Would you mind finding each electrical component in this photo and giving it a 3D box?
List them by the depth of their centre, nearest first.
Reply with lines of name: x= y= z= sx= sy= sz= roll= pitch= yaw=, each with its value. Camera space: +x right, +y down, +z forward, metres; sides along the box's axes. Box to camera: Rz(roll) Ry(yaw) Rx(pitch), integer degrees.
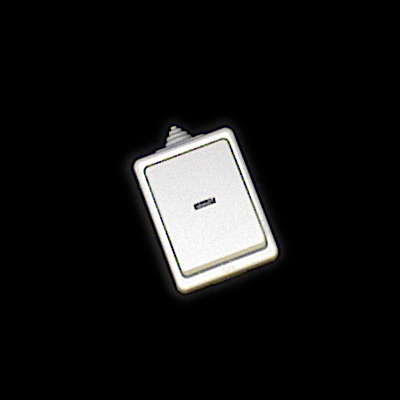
electrical component: x=0.000 y=0.000 z=0.627 sx=0.062 sy=0.096 sz=0.061 roll=-20 pitch=-7 yaw=-2
